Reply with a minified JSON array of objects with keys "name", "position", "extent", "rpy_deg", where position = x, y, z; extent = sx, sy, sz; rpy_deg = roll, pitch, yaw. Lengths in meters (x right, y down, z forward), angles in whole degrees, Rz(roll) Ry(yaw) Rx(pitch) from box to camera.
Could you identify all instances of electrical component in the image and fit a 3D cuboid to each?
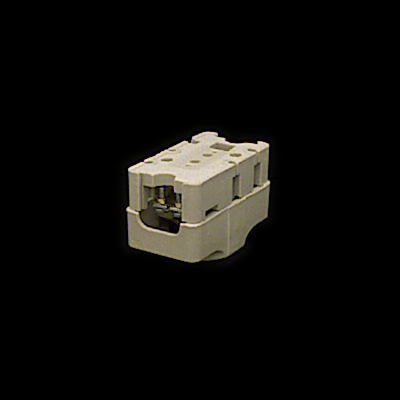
[{"name":"electrical component","position":[0.000,0.000,0.647],"extent":[0.049,0.056,0.089],"rpy_deg":[13,24,29]}]
